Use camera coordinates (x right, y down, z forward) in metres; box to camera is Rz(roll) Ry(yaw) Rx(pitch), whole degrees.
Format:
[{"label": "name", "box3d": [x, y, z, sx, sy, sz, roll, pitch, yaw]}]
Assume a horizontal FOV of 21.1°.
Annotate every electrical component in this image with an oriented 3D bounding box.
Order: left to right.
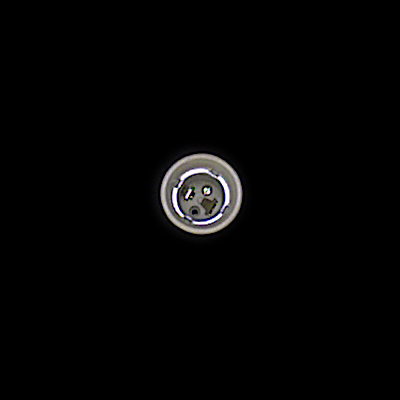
[{"label": "electrical component", "box3d": [0.000, 0.000, 0.625, 0.044, 0.044, 0.065, 0, -7, 0]}]
